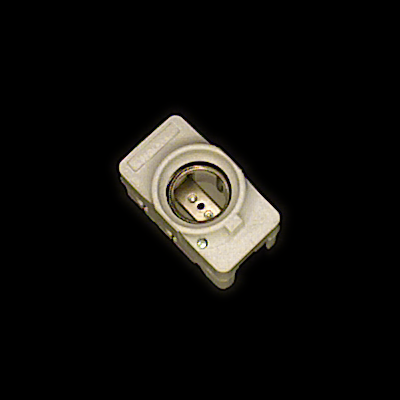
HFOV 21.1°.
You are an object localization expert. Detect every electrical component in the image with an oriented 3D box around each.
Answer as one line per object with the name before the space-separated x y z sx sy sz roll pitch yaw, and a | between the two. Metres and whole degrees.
electrical component | 0.000 0.000 0.636 0.050 0.089 0.055 -43 -12 -11
